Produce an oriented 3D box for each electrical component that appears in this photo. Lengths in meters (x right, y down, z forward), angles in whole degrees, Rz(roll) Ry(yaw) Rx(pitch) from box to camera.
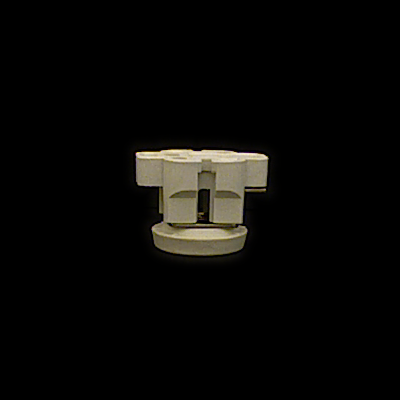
[{"bbox_3d":[0.000,0.000,0.653,0.079,0.057,0.057,1,11,-9],"label":"electrical component"}]
